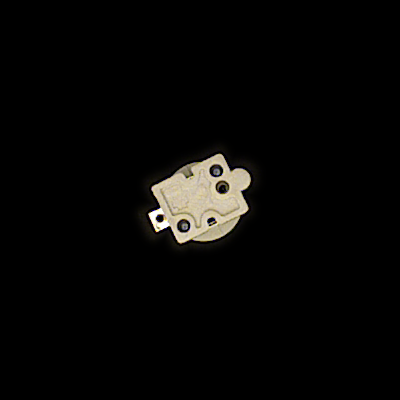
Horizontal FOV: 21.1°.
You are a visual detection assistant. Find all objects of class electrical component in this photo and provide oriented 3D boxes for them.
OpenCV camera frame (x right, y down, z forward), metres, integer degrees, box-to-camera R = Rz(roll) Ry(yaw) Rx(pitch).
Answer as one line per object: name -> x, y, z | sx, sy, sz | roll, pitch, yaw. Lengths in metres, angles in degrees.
electrical component -> 0.000, 0.000, 0.639 | 0.066, 0.048, 0.055 | -26, -4, -1
